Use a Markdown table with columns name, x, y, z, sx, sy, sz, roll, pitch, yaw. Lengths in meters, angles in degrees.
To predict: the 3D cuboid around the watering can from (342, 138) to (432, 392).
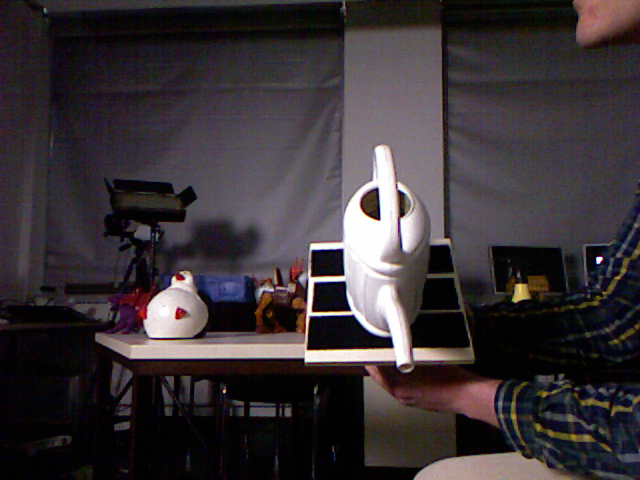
| name | x | y | z | sx | sy | sz | roll | pitch | yaw |
| --- | --- | --- | --- | --- | --- | --- | --- | --- | --- |
| watering can | 0.078 | 0.041 | 0.592 | 0.105 | 0.359 | 0.221 | -2 | -42 | 3 |
